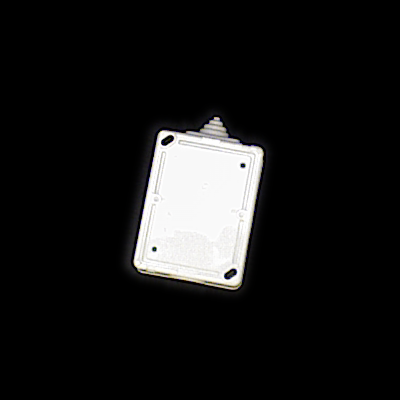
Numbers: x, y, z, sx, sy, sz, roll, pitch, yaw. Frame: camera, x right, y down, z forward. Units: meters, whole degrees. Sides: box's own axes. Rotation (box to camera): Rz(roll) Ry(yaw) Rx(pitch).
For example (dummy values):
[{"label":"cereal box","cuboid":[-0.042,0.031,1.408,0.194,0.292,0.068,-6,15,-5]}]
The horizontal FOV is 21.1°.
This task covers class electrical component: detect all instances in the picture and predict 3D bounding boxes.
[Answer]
[{"label":"electrical component","cuboid":[0.000,0.000,0.627,0.062,0.096,0.061,10,-7,2]}]
